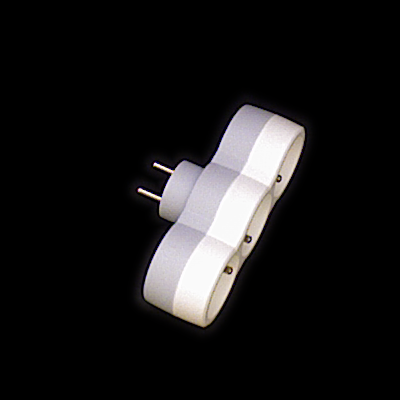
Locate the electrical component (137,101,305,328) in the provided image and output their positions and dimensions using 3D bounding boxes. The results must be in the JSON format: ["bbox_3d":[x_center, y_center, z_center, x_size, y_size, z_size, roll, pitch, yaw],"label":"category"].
[{"bbox_3d":[0.000,0.000,0.629,0.073,0.139,0.052,23,-24,13],"label":"electrical component"}]
